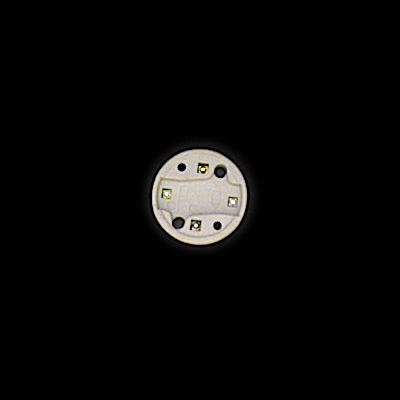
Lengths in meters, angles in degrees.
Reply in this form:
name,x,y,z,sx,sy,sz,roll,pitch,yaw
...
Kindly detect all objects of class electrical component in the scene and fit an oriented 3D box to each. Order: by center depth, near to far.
name,x,y,z,sx,sy,sz,roll,pitch,yaw
electrical component,0.000,0.000,0.636,0.055,0.056,0.047,0,-7,0
